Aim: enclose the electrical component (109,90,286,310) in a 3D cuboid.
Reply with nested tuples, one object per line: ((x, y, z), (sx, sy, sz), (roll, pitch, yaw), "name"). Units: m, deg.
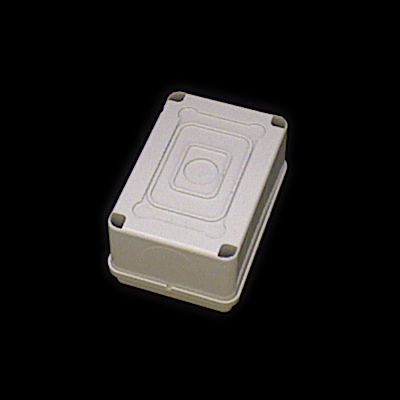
((0.000, 0.000, 0.629), (0.078, 0.113, 0.057), (15, -36, 11), "electrical component")
